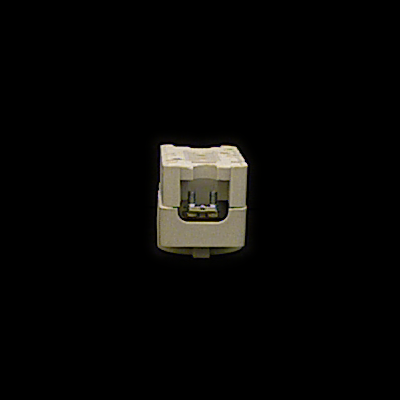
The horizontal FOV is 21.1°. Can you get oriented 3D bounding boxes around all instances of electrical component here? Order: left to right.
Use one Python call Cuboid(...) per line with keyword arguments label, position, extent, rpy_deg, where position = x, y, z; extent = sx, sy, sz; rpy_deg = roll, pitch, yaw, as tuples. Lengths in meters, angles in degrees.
Cuboid(label="electrical component", position=(0.000, 0.000, 0.651), extent=(0.050, 0.056, 0.088), rpy_deg=(1, 12, -3))
